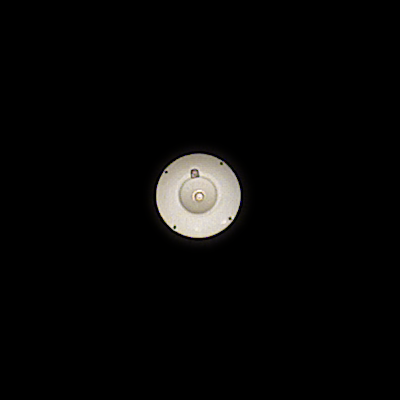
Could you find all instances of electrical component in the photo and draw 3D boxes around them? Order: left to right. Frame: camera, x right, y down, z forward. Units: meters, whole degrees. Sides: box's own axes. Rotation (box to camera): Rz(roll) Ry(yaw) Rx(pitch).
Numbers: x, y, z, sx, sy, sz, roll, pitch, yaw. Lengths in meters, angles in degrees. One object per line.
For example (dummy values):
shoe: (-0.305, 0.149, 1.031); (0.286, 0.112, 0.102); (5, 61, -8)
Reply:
electrical component: (0.000, 0.000, 0.634); (0.048, 0.048, 0.062); (0, -6, 0)
